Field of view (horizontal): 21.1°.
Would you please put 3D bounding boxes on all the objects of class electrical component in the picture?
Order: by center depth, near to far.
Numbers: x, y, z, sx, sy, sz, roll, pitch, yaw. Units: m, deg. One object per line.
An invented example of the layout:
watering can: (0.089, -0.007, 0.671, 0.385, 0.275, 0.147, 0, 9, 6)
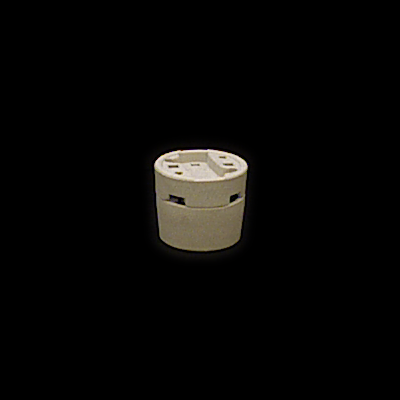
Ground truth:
electrical component: (0.000, 0.000, 0.641, 0.055, 0.047, 0.055, 1, 21, 0)
